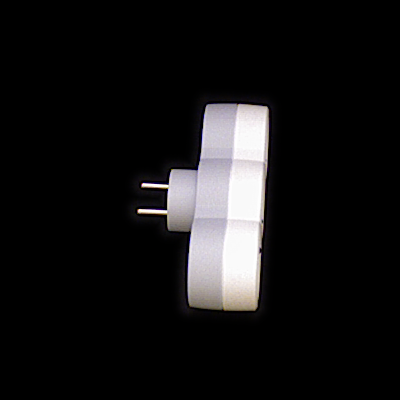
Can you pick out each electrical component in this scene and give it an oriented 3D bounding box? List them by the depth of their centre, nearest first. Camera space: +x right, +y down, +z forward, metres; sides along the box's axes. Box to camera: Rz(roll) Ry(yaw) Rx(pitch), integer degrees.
[{"bbox_3d":[0.000,0.000,0.629,0.074,0.138,0.052,3,-36,4],"label":"electrical component"}]
